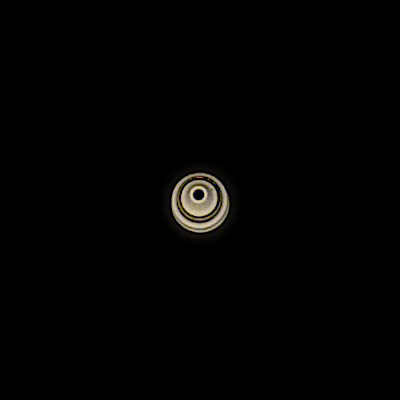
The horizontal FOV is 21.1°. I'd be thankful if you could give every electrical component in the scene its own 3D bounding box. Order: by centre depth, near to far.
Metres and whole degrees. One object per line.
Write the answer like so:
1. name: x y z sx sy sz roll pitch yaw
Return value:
1. electrical component: 0.000 0.000 0.637 0.035 0.035 0.061 0 -7 0
